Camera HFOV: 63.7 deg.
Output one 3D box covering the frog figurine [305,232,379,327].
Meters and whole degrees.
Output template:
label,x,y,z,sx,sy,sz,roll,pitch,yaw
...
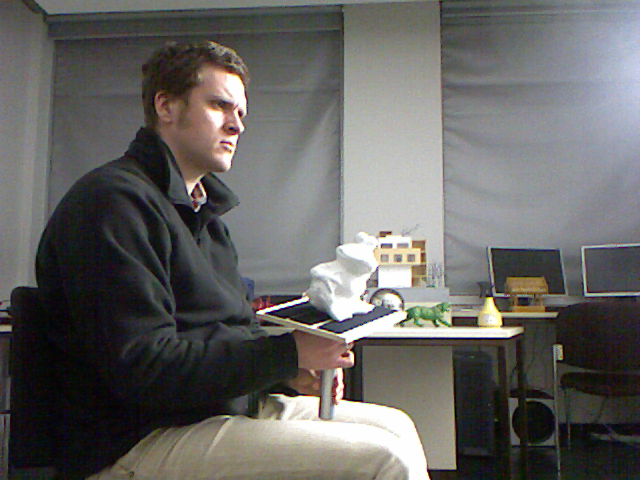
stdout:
label,x,y,z,sx,sy,sz,roll,pitch,yaw
frog figurine,0.041,0.061,0.933,0.138,0.158,0.123,-1,10,-32
